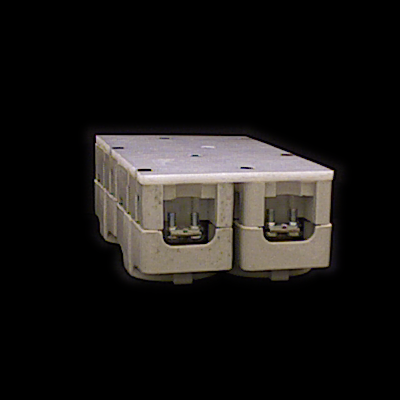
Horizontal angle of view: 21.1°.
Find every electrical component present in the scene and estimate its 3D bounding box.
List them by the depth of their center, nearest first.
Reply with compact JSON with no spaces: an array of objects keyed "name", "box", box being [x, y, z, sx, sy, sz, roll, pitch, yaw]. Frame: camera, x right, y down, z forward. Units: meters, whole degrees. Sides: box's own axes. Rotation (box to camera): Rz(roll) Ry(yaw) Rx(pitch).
[{"name":"electrical component","box":[0.000,0.000,0.643,0.106,0.060,0.184,-1,10,-13]}]
